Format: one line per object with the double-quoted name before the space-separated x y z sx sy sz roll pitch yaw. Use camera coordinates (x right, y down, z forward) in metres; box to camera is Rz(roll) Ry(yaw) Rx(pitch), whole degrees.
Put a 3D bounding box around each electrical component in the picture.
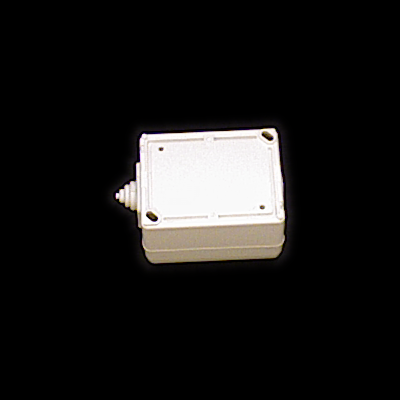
"electrical component" 0.000 0.000 0.629 0.096 0.062 0.061 -3 -27 -1
